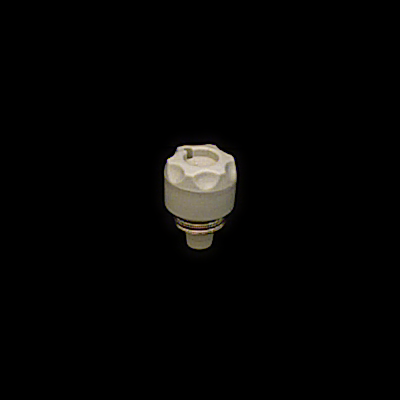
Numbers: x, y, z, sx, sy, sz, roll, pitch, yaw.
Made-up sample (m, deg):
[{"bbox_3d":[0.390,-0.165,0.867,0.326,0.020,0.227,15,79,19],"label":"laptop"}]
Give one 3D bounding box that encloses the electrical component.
[{"bbox_3d":[0.000,0.000,0.641,0.043,0.063,0.043,1,33,0],"label":"electrical component"}]
